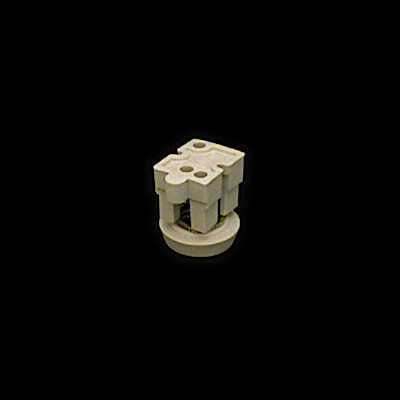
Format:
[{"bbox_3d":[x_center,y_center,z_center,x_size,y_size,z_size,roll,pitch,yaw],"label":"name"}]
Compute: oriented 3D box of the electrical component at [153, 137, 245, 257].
[{"bbox_3d":[0.000,0.000,0.642,0.048,0.056,0.066,18,35,27],"label":"electrical component"}]
